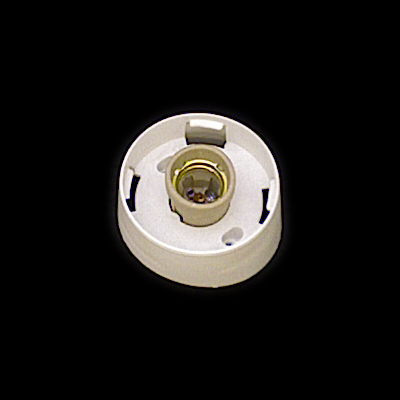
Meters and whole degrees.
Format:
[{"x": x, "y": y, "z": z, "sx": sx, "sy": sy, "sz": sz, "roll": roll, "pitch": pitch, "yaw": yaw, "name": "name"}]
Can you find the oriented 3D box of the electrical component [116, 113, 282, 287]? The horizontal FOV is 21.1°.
[{"x": 0.000, "y": 0.000, "z": 0.625, "sx": 0.099, "sy": 0.099, "sz": 0.064, "roll": 0, "pitch": -27, "yaw": 0, "name": "electrical component"}]
